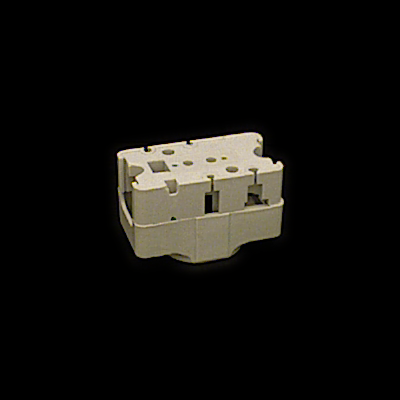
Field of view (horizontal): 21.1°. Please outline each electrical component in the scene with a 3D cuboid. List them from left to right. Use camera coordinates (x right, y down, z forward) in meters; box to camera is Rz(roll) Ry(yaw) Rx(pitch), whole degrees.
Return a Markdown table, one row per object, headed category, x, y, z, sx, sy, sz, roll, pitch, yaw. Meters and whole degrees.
| category | x | y | z | sx | sy | sz | roll | pitch | yaw |
| --- | --- | --- | --- | --- | --- | --- | --- | --- | --- |
| electrical component | 0.000 | 0.000 | 0.642 | 0.090 | 0.056 | 0.049 | -9 | 34 | -15 |
